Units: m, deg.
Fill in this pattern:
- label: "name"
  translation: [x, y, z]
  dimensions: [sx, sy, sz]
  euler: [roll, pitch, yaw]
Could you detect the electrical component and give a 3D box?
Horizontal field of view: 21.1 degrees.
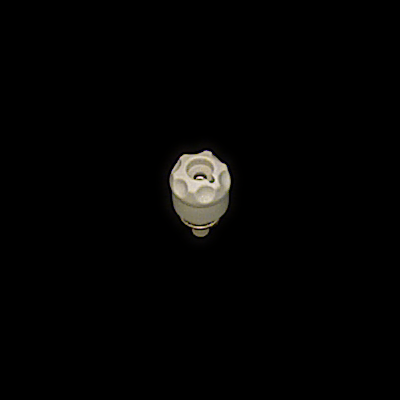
- label: "electrical component"
  translation: [0.000, 0.000, 0.633]
  dimensions: [0.035, 0.035, 0.061]
  euler: [0, -37, 0]
